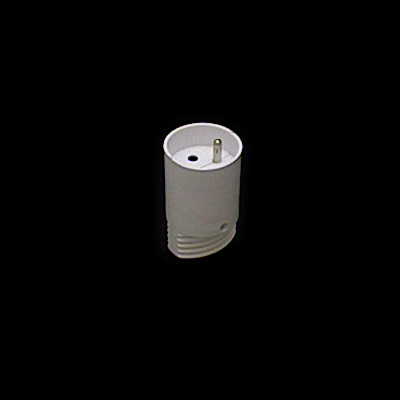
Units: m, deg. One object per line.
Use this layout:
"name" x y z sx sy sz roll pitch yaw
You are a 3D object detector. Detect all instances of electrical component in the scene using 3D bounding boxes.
"electrical component" 0.000 0.000 0.625 0.043 0.082 0.042 1 42 -1
